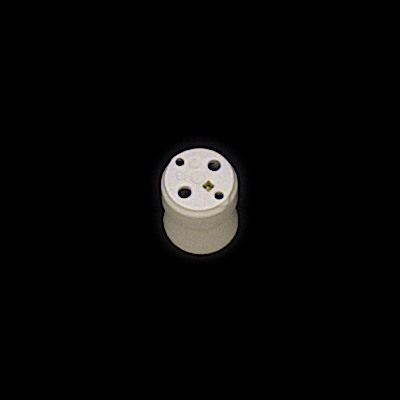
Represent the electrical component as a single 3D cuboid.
[{"bbox_3d":[0.000,0.000,0.628,0.045,0.045,0.055,0,-27,0],"label":"electrical component"}]
